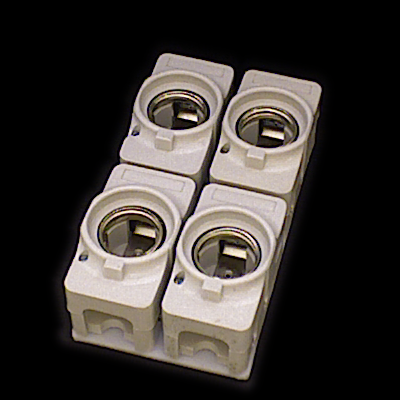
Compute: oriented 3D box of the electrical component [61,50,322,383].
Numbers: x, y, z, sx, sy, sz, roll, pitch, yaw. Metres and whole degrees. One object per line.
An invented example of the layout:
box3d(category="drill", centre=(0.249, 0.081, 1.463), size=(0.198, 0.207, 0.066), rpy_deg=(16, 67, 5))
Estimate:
box3d(category="electrical component", centre=(0.000, 0.000, 0.627), size=(0.105, 0.186, 0.060), rpy_deg=(13, -36, 9))
